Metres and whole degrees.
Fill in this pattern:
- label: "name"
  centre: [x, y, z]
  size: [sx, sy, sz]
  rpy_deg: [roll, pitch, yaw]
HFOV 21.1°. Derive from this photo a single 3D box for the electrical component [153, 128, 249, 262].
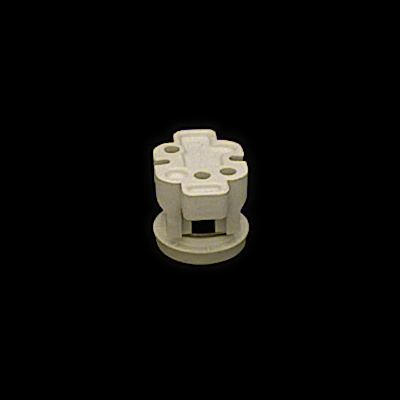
- label: "electrical component"
  centre: [0.000, 0.000, 0.643]
  size: [0.058, 0.057, 0.077]
  rpy_deg: [-4, 31, -6]
